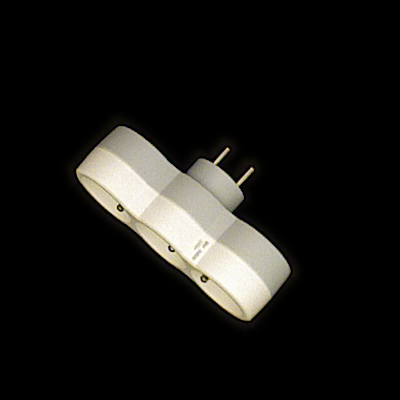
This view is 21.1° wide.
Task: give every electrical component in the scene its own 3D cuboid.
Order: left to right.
[{"bbox_3d":[0.000,0.000,0.638,0.138,0.074,0.052,40,-14,11],"label":"electrical component"}]
